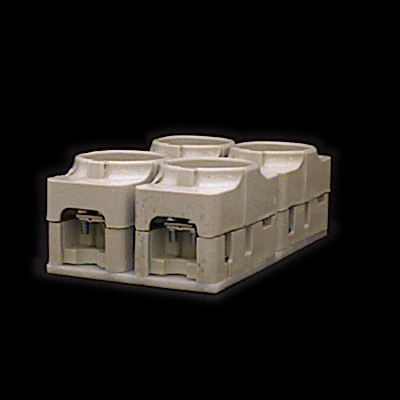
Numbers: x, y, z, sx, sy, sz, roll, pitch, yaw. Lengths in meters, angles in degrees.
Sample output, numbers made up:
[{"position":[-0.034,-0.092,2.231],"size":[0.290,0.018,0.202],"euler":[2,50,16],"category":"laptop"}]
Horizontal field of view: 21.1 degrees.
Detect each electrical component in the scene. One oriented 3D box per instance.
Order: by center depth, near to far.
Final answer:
[{"position":[0.000,0.000,0.643],"size":[0.105,0.061,0.185],"euler":[6,11,24],"category":"electrical component"}]
